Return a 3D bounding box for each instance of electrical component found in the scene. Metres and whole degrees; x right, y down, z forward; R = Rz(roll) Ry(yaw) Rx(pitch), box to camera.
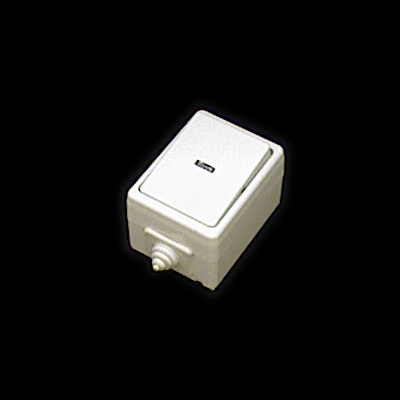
[{"bbox_3d":[0.000,0.000,0.626,0.061,0.096,0.061,27,-33,19],"label":"electrical component"}]
